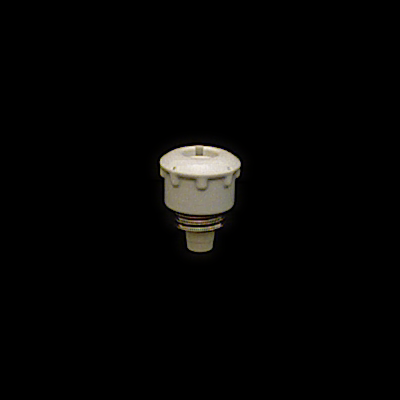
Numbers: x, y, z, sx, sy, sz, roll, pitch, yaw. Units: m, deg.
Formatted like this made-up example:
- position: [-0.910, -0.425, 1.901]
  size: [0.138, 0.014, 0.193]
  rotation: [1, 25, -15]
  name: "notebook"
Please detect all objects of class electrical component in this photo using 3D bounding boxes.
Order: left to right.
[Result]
- position: [0.000, 0.000, 0.645]
  size: [0.048, 0.062, 0.047]
  rotation: [1, 22, 0]
  name: "electrical component"
